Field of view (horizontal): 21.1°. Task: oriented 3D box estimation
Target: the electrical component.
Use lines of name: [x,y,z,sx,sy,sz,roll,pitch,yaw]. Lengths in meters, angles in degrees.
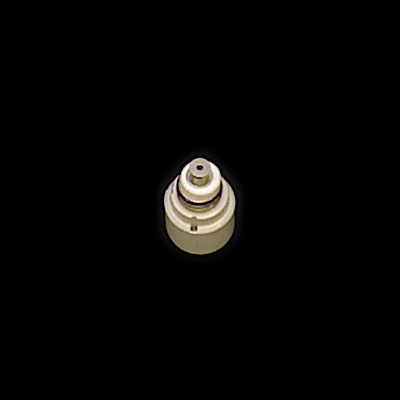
electrical component: [0.000,0.000,0.619,0.040,0.040,0.078,0,-26,-1]
